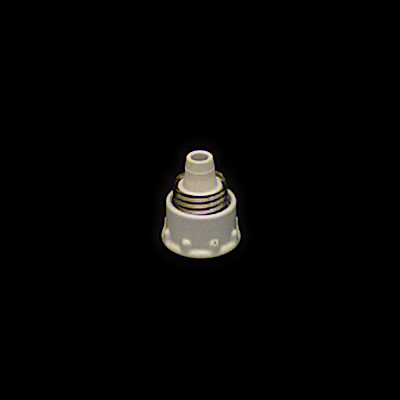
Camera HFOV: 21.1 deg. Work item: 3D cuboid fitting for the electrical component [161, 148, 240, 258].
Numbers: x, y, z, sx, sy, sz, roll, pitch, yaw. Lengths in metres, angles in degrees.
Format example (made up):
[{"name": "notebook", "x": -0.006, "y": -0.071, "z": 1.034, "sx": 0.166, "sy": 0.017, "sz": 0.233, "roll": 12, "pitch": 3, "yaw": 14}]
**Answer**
[{"name": "electrical component", "x": 0.000, "y": 0.000, "z": 0.640, "sx": 0.048, "sy": 0.063, "sz": 0.047, "roll": 0, "pitch": 32, "yaw": 1}]
